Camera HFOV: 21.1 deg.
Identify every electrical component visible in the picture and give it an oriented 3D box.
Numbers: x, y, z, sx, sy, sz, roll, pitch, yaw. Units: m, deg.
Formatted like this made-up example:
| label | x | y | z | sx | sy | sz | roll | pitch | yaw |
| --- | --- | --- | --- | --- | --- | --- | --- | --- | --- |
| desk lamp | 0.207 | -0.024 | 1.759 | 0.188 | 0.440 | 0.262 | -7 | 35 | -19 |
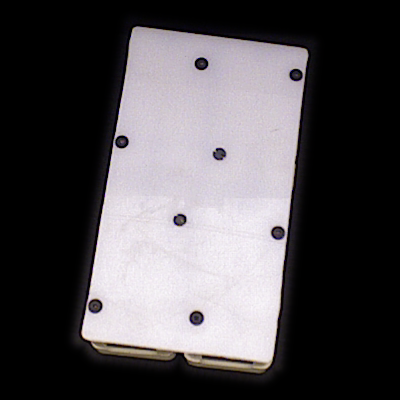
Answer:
| label | x | y | z | sx | sy | sz | roll | pitch | yaw |
| --- | --- | --- | --- | --- | --- | --- | --- | --- | --- |
| electrical component | 0.000 | 0.000 | 0.625 | 0.105 | 0.187 | 0.060 | 7 | -17 | 2 |
